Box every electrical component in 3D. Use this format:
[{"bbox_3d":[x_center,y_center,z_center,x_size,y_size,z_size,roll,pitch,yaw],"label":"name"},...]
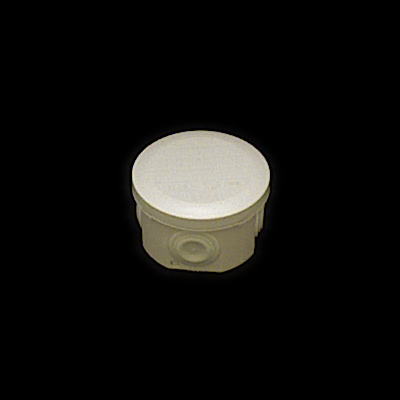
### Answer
[{"bbox_3d":[0.000,0.000,0.633,0.080,0.051,0.079,1,42,0],"label":"electrical component"}]
